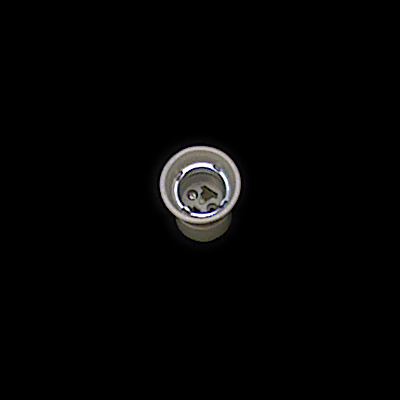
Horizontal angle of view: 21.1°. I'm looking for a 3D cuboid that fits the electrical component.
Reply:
[{"bbox_3d":[0.000,0.000,0.624,0.044,0.044,0.065,0,-17,2],"label":"electrical component"}]
